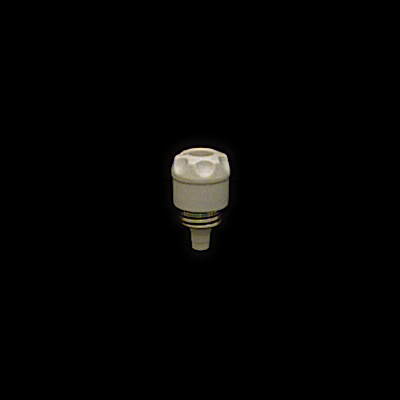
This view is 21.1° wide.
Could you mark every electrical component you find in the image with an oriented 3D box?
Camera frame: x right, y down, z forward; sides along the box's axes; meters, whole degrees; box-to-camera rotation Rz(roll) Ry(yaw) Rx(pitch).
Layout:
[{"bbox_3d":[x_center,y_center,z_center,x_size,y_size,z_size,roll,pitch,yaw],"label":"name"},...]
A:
[{"bbox_3d":[0.000,0.000,0.646,0.035,0.062,0.034,1,22,0],"label":"electrical component"}]
